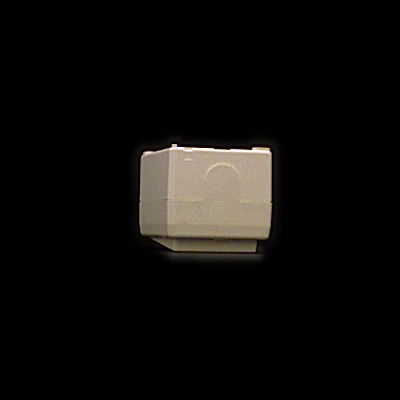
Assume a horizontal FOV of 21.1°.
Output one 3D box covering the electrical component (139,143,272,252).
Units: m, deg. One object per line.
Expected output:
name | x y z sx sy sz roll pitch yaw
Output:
electrical component | 0.000 0.000 0.652 0.062 0.061 0.096 1 -1 -16
